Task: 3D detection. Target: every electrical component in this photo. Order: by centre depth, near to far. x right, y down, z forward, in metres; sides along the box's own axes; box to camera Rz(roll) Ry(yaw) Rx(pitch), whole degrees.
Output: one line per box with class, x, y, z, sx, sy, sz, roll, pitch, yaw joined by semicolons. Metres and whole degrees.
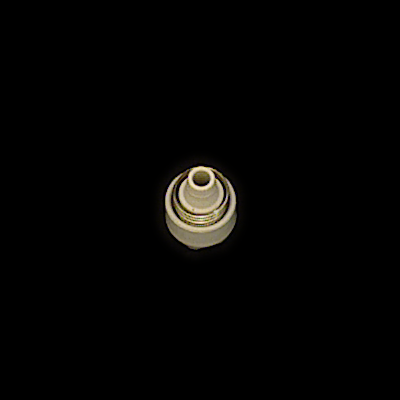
electrical component;0.000;0.000;0.633;0.043;0.043;0.062;0;-25;0
